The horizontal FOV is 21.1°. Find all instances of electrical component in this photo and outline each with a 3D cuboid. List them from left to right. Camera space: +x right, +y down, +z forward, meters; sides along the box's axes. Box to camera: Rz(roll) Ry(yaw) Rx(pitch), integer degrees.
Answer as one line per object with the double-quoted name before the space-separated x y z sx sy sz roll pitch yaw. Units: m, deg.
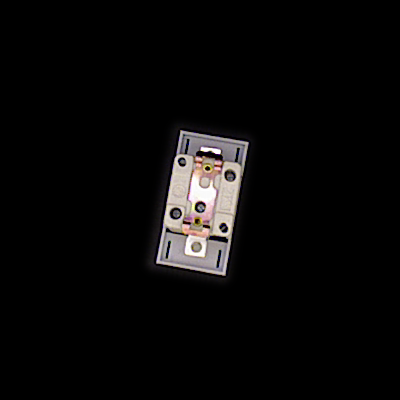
"electrical component" 0.000 0.000 0.626 0.042 0.081 0.063 9 -6 2
